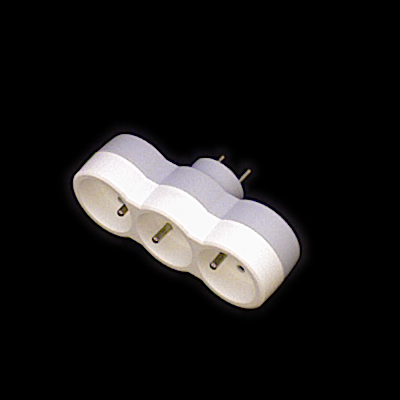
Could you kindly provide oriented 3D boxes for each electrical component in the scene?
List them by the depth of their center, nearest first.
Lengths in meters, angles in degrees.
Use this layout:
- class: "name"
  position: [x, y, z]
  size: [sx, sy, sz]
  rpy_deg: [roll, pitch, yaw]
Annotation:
- class: "electrical component"
  position: [0.000, 0.000, 0.632]
  size: [0.137, 0.052, 0.074]
  rpy_deg: [29, 56, 21]
